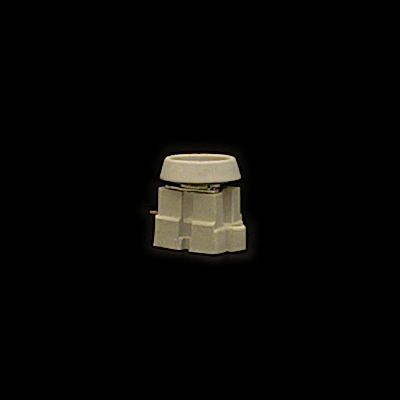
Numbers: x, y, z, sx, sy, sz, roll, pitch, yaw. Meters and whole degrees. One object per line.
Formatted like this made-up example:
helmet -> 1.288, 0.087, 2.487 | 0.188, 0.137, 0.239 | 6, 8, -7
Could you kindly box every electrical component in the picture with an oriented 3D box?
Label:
electrical component -> 0.000, 0.000, 0.651 | 0.066, 0.056, 0.048 | 7, 11, 27
